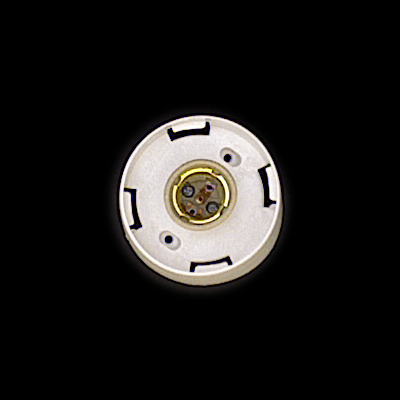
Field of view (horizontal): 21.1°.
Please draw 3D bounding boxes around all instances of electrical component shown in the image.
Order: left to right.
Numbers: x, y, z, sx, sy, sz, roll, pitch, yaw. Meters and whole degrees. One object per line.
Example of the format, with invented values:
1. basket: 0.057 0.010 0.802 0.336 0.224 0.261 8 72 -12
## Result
1. electrical component: 0.000 0.000 0.625 0.099 0.099 0.064 0 -6 0
